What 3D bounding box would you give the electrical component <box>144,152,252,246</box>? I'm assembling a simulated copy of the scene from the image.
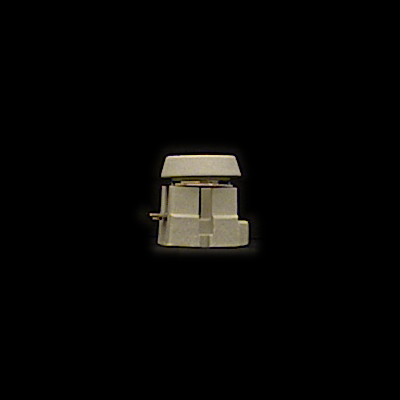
[{"bbox_3d":[0.000,0.000,0.655,0.067,0.055,0.048,1,0,-15],"label":"electrical component"}]
